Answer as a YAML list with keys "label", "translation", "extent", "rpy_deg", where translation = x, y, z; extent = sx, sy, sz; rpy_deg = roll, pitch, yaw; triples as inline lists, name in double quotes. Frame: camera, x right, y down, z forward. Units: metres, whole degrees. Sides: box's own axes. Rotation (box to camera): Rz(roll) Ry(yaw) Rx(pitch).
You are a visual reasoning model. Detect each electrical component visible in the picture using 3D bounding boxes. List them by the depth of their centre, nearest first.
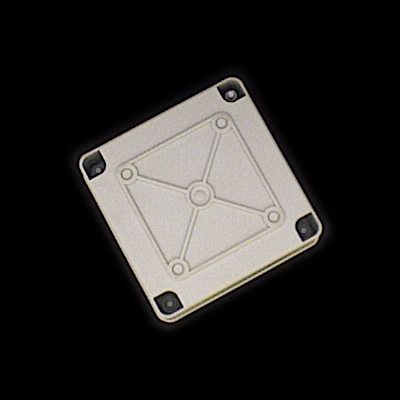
- label: "electrical component"
  translation: [0.000, 0.000, 0.629]
  extent: [0.109, 0.109, 0.056]
  rpy_deg: [-28, -6, -4]
